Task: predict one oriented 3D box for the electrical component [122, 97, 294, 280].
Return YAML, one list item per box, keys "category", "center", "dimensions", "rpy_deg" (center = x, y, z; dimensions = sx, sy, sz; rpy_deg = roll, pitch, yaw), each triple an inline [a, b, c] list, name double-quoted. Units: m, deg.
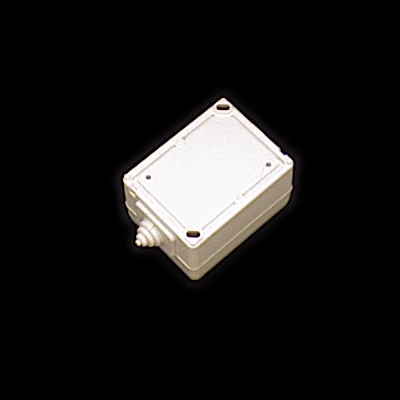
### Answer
- category: "electrical component"
  center: [0.000, 0.000, 0.628]
  dimensions: [0.096, 0.061, 0.061]
  rpy_deg: [-40, -21, -18]
